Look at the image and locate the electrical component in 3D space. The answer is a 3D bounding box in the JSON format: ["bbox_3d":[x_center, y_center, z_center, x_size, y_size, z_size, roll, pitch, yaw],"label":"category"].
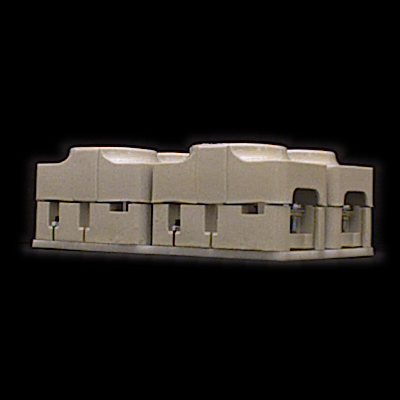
[{"bbox_3d":[0.000,0.000,0.649,0.185,0.060,0.106,1,-1,37],"label":"electrical component"}]
